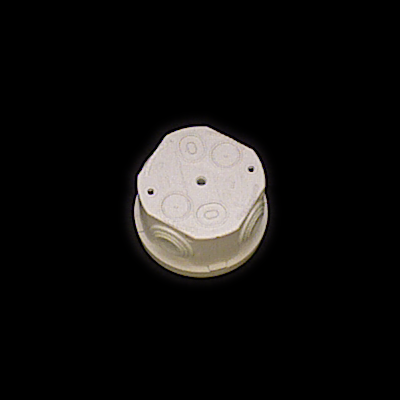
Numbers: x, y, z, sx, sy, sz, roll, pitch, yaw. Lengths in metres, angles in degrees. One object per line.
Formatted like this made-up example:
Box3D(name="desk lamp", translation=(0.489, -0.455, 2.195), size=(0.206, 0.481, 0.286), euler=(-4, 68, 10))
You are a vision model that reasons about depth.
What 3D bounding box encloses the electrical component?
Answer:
Box3D(name="electrical component", translation=(0.000, 0.000, 0.632), size=(0.080, 0.080, 0.050), euler=(0, -27, -1))
